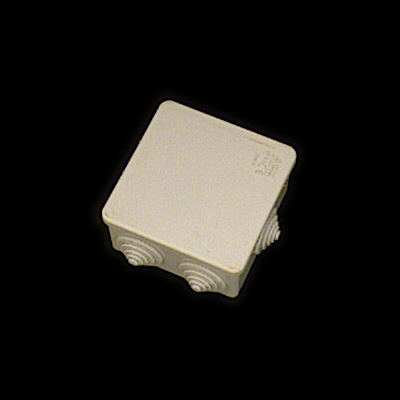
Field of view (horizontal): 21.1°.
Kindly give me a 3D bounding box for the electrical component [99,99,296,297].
[{"bbox_3d":[0.000,0.000,0.641,0.099,0.100,0.048,22,-25,10],"label":"electrical component"}]
